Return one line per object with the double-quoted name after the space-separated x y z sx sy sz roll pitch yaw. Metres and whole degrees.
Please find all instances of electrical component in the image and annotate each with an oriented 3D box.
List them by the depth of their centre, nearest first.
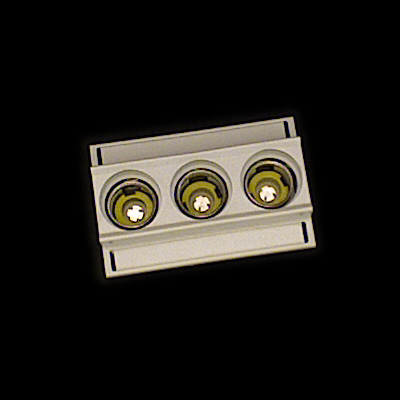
0.000 0.000 0.637 0.121 0.079 0.063 -8 -15 -2 "electrical component"
